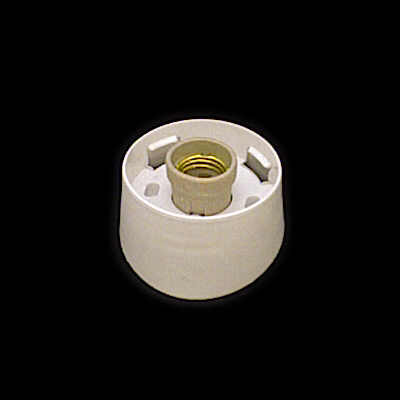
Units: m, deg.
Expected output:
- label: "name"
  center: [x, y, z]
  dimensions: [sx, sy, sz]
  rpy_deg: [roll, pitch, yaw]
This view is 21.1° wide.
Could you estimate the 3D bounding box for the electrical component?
- label: "electrical component"
  center: [0.000, 0.000, 0.630]
  dimensions: [0.099, 0.065, 0.098]
  rpy_deg: [1, 42, 0]
